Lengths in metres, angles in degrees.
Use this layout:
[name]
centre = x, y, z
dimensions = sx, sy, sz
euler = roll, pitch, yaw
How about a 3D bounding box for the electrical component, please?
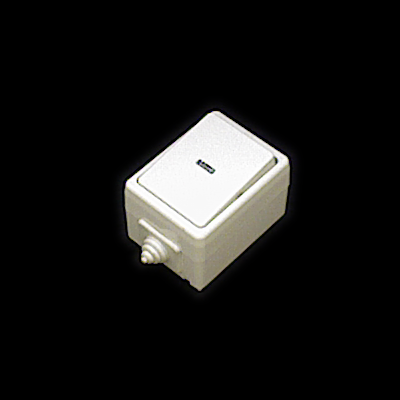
[electrical component]
centre = 0.000, 0.000, 0.627
dimensions = 0.061, 0.061, 0.096
euler = 36, 60, 24
